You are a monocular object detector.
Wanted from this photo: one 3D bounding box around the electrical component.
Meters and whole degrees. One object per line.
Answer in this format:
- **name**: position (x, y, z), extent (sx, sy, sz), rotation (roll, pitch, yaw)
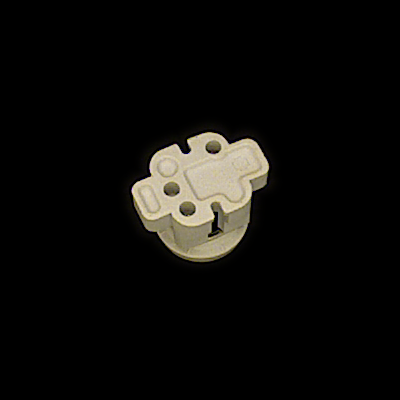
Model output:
- **electrical component**: position (0.000, 0.000, 0.636), extent (0.079, 0.057, 0.057), rotation (-23, -25, -13)
